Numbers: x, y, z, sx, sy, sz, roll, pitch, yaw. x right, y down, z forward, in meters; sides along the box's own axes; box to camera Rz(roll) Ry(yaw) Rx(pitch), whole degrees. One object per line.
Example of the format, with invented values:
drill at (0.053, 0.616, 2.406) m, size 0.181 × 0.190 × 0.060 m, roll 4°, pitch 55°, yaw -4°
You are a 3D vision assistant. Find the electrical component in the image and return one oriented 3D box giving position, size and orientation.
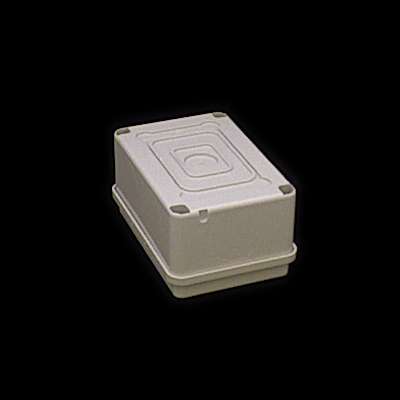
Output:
electrical component at (0.000, 0.000, 0.635) m, size 0.078 × 0.058 × 0.111 m, roll -11°, pitch 33°, yaw -19°
